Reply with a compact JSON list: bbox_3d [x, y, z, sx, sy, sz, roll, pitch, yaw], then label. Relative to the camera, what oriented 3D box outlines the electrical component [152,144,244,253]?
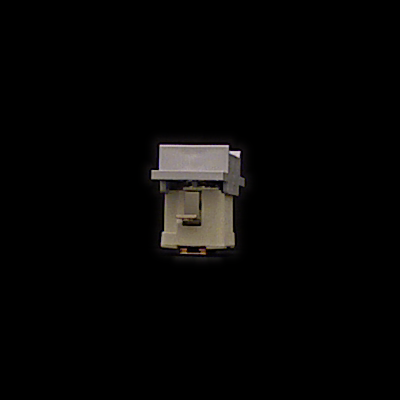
[{"bbox_3d":[0.000,0.000,0.647,0.042,0.064,0.081,2,0,11],"label":"electrical component"}]
